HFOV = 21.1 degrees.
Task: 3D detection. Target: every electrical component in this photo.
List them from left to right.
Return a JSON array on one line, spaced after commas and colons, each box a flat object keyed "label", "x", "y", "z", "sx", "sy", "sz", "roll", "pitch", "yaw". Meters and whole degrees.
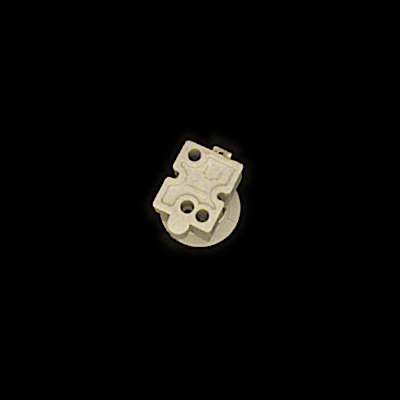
[{"label": "electrical component", "x": 0.000, "y": 0.000, "z": 0.637, "sx": 0.048, "sy": 0.067, "sz": 0.055, "roll": 25, "pitch": -15, "yaw": 8}]
